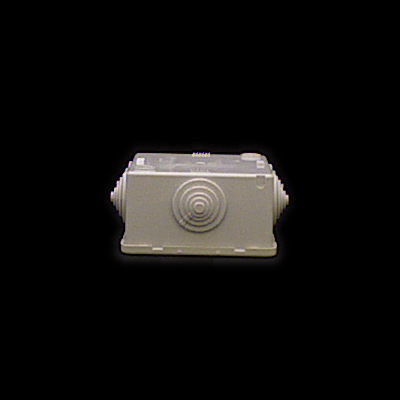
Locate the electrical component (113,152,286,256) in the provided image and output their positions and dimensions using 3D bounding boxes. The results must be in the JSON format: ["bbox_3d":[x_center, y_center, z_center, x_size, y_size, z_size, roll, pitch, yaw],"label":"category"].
[{"bbox_3d":[0.000,0.000,0.644,0.100,0.049,0.099,1,10,0],"label":"electrical component"}]
